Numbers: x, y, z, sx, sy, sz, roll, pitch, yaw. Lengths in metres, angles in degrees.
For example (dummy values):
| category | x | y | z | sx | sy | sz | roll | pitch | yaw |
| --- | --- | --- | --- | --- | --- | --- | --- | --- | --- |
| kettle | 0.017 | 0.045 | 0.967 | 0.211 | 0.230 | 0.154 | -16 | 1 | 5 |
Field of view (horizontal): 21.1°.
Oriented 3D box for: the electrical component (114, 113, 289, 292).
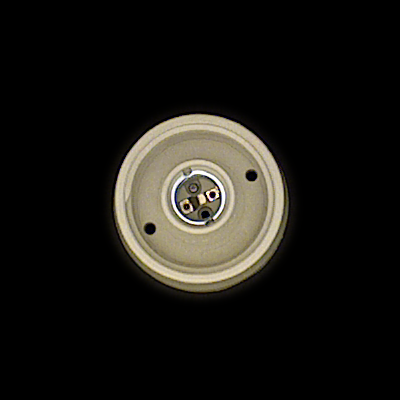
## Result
| category | x | y | z | sx | sy | sz | roll | pitch | yaw |
| --- | --- | --- | --- | --- | --- | --- | --- | --- | --- |
| electrical component | 0.000 | 0.000 | 0.635 | 0.108 | 0.108 | 0.060 | 0 | -6 | 0 |
